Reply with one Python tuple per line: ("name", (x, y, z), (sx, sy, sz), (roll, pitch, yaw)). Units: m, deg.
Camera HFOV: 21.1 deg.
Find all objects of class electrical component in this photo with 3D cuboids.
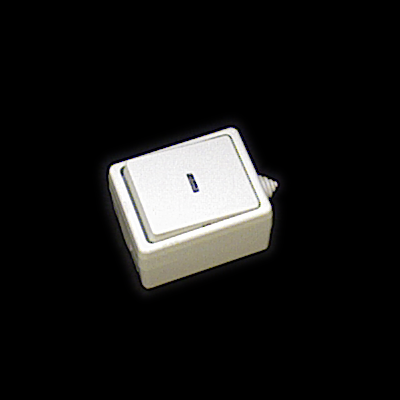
("electrical component", (0.000, 0.000, 0.626), (0.096, 0.062, 0.061), (-18, -26, -9))
